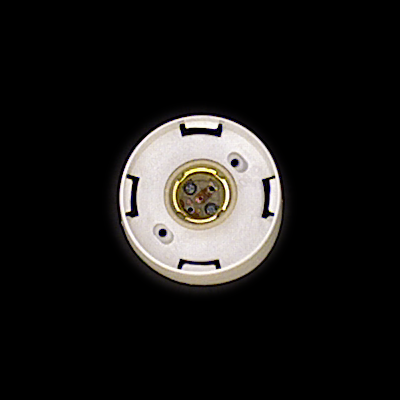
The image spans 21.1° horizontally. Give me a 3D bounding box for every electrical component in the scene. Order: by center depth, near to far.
[{"bbox_3d":[0.000,0.000,0.625,0.099,0.099,0.064,0,-6,0],"label":"electrical component"}]
